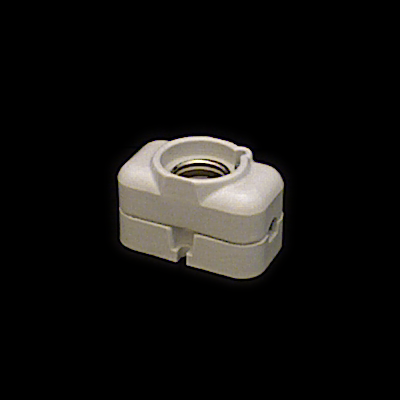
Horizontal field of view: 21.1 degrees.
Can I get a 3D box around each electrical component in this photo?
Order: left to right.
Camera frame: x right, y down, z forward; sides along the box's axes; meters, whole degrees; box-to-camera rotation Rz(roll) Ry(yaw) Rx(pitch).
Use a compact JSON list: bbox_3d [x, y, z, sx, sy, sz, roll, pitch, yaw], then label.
[{"bbox_3d":[0.000,0.000,0.642,0.094,0.060,0.053,15,35,20],"label":"electrical component"}]
